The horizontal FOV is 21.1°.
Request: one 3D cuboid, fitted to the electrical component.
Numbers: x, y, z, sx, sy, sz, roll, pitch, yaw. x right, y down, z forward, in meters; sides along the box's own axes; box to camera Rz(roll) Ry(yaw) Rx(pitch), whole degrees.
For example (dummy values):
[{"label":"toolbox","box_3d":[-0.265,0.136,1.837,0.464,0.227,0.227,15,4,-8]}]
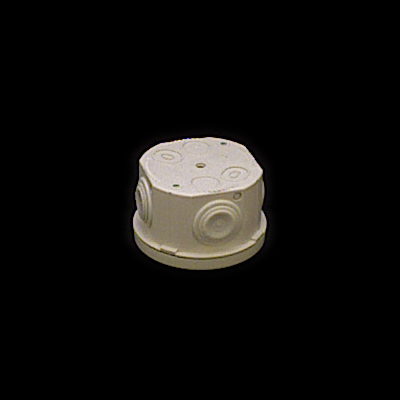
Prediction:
[{"label":"electrical component","box_3d":[0.000,0.000,0.638,0.080,0.051,0.079,1,31,0]}]
